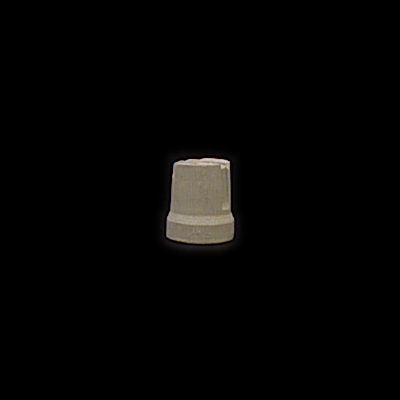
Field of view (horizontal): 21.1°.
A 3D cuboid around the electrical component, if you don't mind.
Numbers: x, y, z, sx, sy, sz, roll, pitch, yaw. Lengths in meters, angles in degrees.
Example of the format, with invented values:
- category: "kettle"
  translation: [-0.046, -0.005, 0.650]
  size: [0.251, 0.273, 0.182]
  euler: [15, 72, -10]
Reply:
- category: "electrical component"
  translation: [0.000, 0.000, 0.647]
  size: [0.040, 0.046, 0.040]
  euler: [2, 11, 0]
